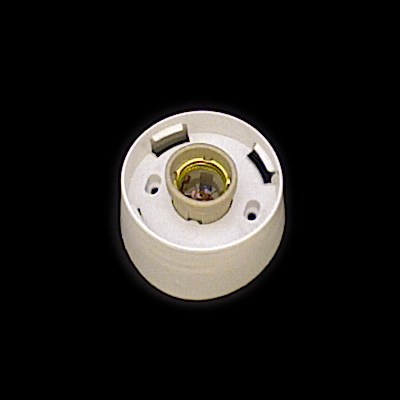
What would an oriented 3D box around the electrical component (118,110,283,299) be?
[{"bbox_3d":[0.000,0.000,0.626,0.099,0.099,0.064,0,-27,0],"label":"electrical component"}]
